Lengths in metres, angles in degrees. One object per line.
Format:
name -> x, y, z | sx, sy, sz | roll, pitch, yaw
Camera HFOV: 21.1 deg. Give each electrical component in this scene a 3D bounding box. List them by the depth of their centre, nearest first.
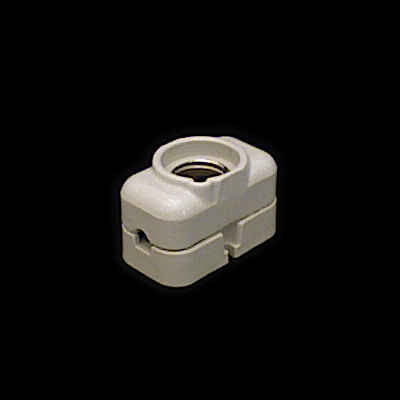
electrical component -> 0.000, 0.000, 0.640 | 0.053, 0.060, 0.095 | 28, 41, 37
